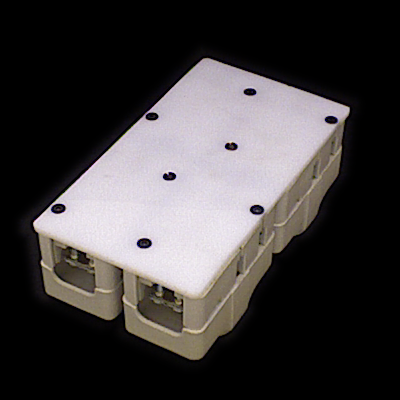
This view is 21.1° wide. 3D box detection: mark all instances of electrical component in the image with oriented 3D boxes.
[{"bbox_3d":[0.000,0.000,0.630,0.105,0.061,0.185,22,46,22],"label":"electrical component"}]
